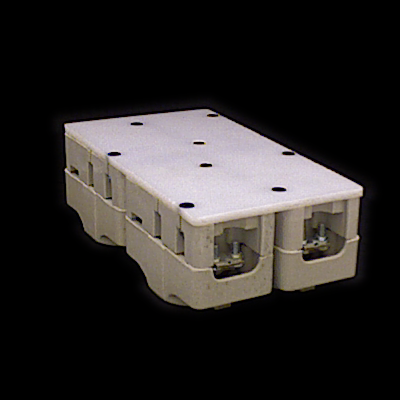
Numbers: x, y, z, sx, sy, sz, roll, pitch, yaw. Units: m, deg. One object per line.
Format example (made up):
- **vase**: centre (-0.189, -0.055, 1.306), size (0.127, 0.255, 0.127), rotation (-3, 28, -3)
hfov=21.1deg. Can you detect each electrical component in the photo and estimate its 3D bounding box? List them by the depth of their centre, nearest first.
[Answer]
- **electrical component**: centre (0.000, 0.000, 0.638), size (0.105, 0.061, 0.184), rotation (-9, 23, -26)
